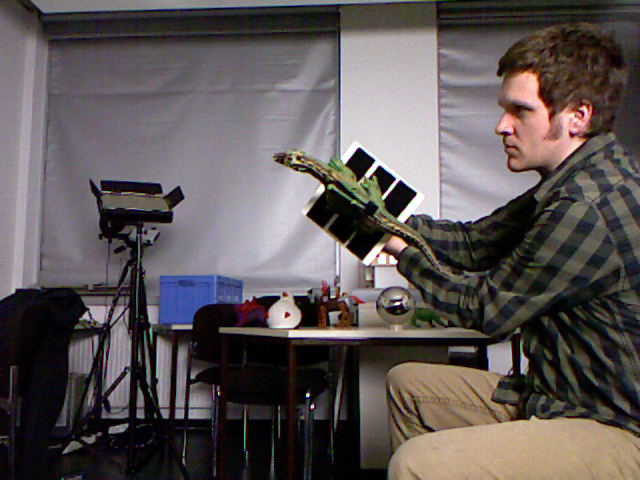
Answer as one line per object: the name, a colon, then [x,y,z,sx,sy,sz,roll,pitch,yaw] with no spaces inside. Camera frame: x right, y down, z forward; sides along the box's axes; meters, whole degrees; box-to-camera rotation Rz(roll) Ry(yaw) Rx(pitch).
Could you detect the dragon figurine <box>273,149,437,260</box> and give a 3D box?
dragon figurine: [0.087,-0.068,1.055,0.412,0.122,0.245,33,9,2]
